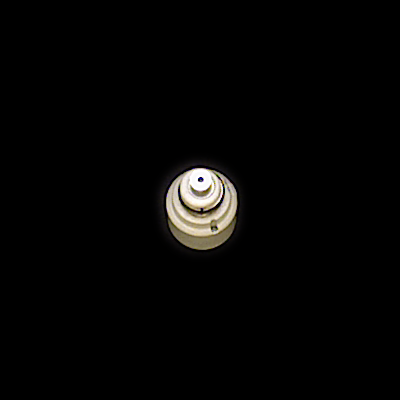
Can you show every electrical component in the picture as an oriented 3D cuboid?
[{"bbox_3d":[0.000,0.000,0.617,0.040,0.040,0.078,0,-17,1],"label":"electrical component"}]
